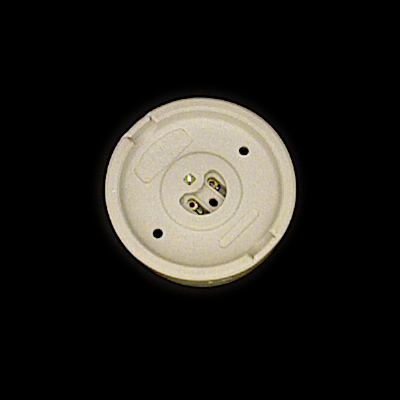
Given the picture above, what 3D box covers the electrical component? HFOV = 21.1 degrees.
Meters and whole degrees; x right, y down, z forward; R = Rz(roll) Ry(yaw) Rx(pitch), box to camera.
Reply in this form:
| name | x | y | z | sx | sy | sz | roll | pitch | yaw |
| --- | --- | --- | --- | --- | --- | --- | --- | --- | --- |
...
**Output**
| name | x | y | z | sx | sy | sz | roll | pitch | yaw |
| --- | --- | --- | --- | --- | --- | --- | --- | --- | --- |
| electrical component | 0.000 | 0.000 | 0.634 | 0.108 | 0.108 | 0.060 | 0 | -16 | 0 |
